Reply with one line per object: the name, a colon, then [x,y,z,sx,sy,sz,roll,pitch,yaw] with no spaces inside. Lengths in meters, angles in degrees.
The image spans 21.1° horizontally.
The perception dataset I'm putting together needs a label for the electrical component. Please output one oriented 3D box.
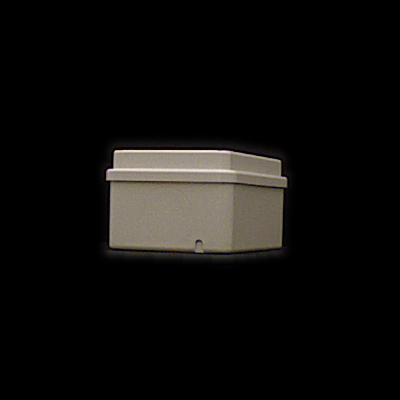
electrical component: [0.000,0.000,0.650,0.078,0.057,0.113,1,0,21]
